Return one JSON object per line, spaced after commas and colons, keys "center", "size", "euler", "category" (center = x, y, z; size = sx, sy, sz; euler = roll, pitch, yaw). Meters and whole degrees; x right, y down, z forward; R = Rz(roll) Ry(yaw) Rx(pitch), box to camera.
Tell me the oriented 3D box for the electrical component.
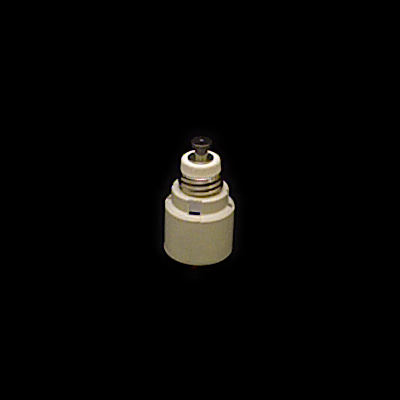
{"center": [0.000, 0.000, 0.630], "size": [0.040, 0.079, 0.039], "euler": [2, 31, -1], "category": "electrical component"}
